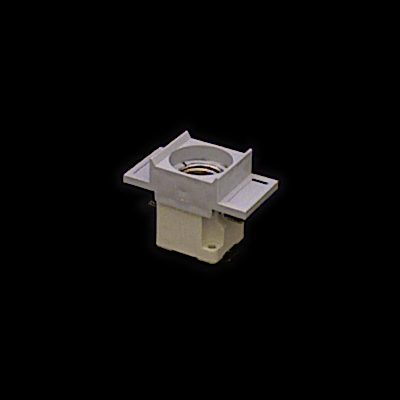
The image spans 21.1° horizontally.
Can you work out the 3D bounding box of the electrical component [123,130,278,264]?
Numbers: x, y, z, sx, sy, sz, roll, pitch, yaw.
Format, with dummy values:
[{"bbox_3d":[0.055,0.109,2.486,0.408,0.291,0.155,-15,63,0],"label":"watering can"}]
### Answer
[{"bbox_3d":[0.000,0.000,0.634,0.080,0.064,0.042,17,36,24],"label":"electrical component"}]
